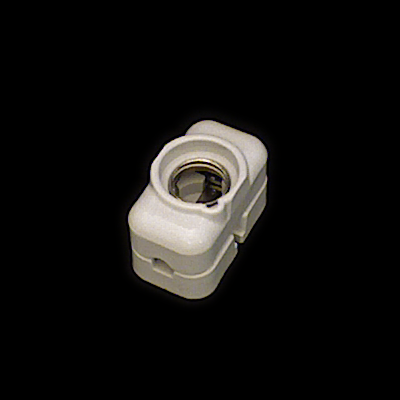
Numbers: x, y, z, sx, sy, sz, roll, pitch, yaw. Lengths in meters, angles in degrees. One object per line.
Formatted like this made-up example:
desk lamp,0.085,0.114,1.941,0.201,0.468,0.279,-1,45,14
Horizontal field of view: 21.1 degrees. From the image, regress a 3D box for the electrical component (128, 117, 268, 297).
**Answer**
electrical component,0.000,0.000,0.635,0.053,0.095,0.059,22,-34,16
